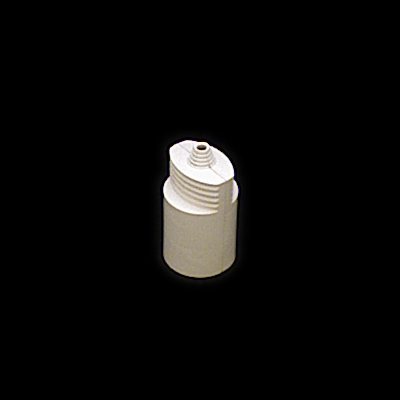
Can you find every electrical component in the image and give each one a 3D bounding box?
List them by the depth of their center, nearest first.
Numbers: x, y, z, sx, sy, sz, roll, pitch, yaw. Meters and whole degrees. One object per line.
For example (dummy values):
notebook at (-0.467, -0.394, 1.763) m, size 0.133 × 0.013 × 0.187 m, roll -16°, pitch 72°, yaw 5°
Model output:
electrical component at (0.000, 0.000, 0.623) m, size 0.043 × 0.082 × 0.042 m, roll 0°, pitch 42°, yaw 0°
